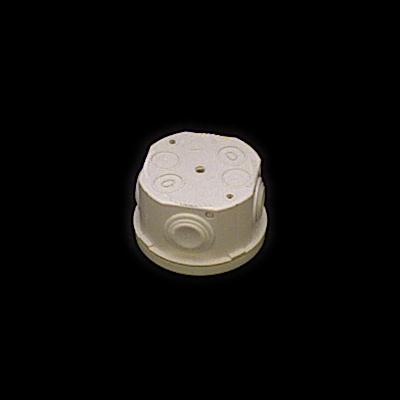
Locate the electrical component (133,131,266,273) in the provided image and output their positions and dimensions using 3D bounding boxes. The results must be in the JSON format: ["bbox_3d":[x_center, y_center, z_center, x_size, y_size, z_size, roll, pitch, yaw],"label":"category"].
[{"bbox_3d":[0.000,0.000,0.635,0.080,0.051,0.079,0,42,0],"label":"electrical component"}]
